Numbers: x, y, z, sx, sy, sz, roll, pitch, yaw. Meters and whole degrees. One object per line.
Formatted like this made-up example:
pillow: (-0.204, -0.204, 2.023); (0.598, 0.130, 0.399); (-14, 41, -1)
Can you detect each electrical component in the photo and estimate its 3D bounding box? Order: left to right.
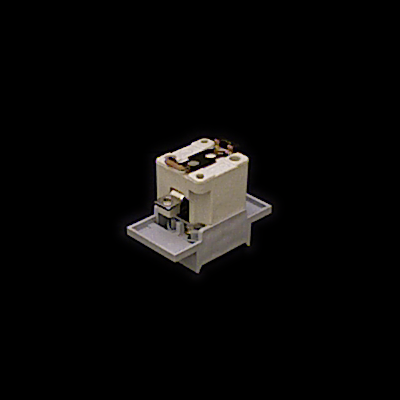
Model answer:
electrical component: (0.000, 0.000, 0.634); (0.080, 0.064, 0.042); (-27, 41, -37)
